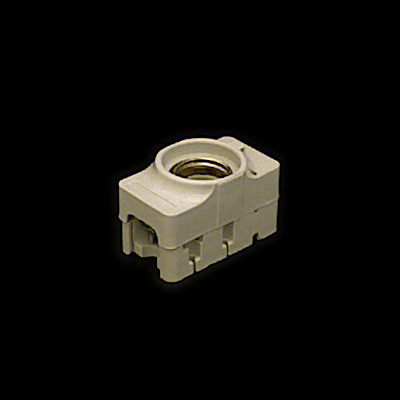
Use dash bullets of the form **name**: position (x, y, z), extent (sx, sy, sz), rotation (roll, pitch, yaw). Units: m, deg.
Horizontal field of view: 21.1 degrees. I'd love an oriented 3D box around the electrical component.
- **electrical component**: position (0.000, 0.000, 0.642), extent (0.090, 0.056, 0.049), rotation (-26, 41, -35)
